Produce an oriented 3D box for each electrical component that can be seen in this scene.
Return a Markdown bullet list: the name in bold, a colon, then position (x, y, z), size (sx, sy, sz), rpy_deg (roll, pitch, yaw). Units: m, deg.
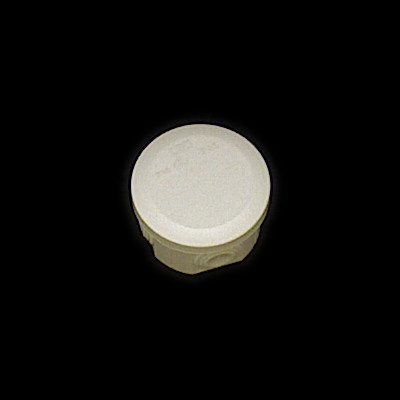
- **electrical component**: position (0.000, 0.000, 0.631), size (0.080, 0.080, 0.050), rpy_deg (0, -27, -1)
